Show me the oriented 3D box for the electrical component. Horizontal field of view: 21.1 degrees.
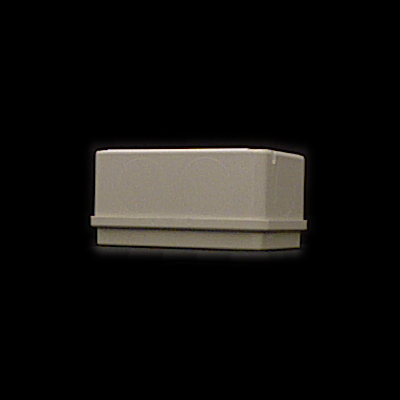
[{"bbox_3d":[0.000,0.000,0.649,0.113,0.057,0.078,1,0,25],"label":"electrical component"}]
